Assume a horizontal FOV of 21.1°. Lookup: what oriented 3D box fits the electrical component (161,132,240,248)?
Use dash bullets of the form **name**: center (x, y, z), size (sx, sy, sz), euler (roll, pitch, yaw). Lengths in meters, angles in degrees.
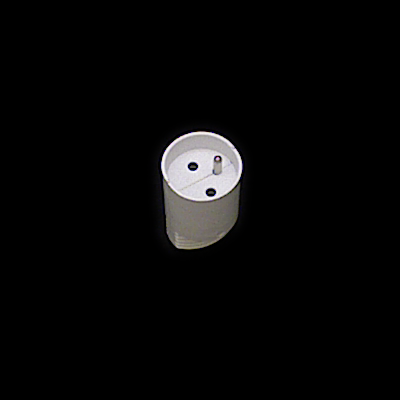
- **electrical component**: center (0.000, 0.000, 0.618), size (0.043, 0.043, 0.081), euler (0, -27, -1)
